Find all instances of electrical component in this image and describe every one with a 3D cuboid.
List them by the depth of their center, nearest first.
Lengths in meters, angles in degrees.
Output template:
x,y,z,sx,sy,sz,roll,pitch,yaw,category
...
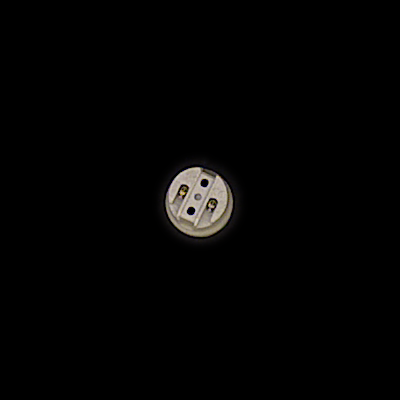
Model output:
x,y,z,sx,sy,sz,roll,pitch,yaw,category
0.000,0.000,0.634,0.040,0.040,0.046,0,-7,0,electrical component
